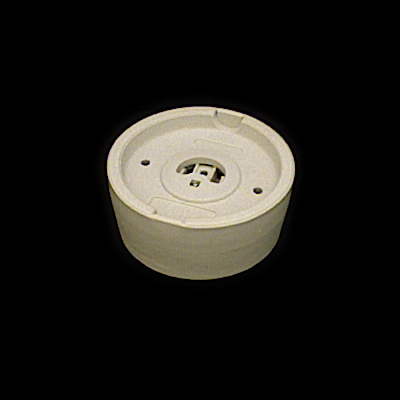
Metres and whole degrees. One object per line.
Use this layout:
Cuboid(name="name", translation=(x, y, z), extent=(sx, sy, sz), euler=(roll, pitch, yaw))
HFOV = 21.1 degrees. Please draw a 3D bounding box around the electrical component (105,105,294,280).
Cuboid(name="electrical component", translation=(0.000, 0.000, 0.635), extent=(0.108, 0.061, 0.107), euler=(1, 42, 0))
